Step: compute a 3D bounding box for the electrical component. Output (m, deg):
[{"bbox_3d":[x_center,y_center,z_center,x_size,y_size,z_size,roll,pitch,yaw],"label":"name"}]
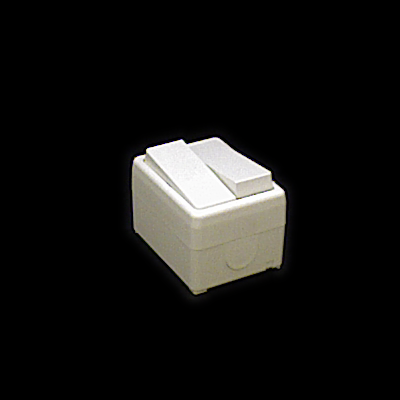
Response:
[{"bbox_3d":[0.000,0.000,0.636,0.062,0.061,0.095,-16,35,-25],"label":"electrical component"}]
